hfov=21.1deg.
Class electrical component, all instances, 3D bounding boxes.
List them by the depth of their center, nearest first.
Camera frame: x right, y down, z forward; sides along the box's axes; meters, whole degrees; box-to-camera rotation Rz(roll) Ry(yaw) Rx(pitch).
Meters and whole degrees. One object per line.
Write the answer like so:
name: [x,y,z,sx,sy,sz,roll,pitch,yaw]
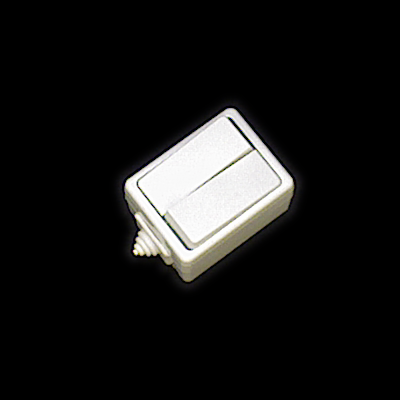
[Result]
electrical component: [0.000,0.000,0.625,0.096,0.062,0.060,-36,-14,-10]
